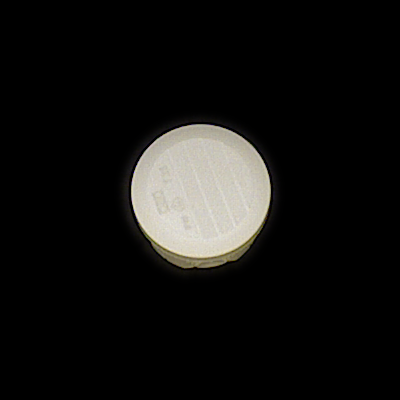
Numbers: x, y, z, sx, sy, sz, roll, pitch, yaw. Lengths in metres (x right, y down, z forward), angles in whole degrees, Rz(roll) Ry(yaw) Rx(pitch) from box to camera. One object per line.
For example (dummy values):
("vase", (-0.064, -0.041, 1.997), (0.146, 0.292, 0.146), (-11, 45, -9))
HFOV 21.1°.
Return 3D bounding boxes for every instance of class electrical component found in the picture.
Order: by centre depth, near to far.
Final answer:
("electrical component", (0.000, 0.000, 0.631), (0.080, 0.080, 0.050), (0, -17, 0))
